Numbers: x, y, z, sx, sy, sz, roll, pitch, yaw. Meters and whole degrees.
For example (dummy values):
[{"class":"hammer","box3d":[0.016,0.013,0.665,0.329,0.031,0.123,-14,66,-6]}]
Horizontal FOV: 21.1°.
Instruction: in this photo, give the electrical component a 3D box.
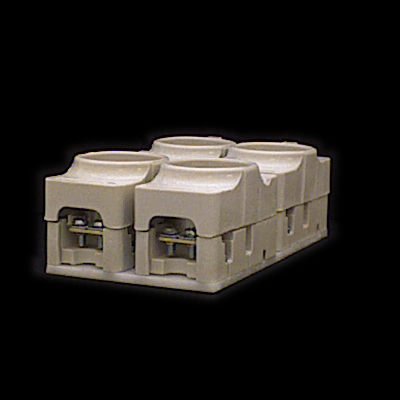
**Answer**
[{"class":"electrical component","box3d":[0.000,0.000,0.645,0.105,0.060,0.185,6,11,25]}]
